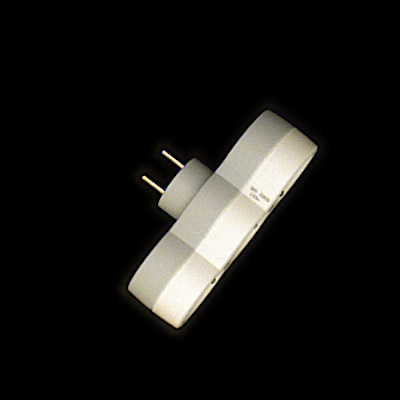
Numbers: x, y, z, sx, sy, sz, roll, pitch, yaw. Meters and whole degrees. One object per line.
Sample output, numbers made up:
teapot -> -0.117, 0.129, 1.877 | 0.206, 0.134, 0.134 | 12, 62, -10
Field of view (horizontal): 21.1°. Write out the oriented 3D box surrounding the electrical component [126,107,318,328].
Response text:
electrical component -> 0.000, 0.000, 0.639 | 0.073, 0.138, 0.052 | 38, -5, 5
